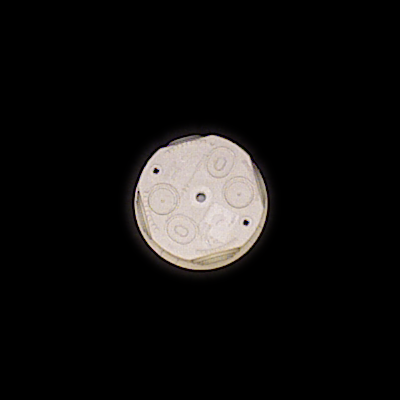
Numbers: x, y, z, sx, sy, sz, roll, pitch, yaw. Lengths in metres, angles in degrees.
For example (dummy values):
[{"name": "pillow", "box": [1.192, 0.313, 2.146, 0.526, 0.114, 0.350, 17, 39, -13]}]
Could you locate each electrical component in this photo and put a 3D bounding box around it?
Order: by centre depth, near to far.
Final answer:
[{"name": "electrical component", "box": [0.000, 0.000, 0.633, 0.080, 0.080, 0.050, 0, -7, 0]}]
